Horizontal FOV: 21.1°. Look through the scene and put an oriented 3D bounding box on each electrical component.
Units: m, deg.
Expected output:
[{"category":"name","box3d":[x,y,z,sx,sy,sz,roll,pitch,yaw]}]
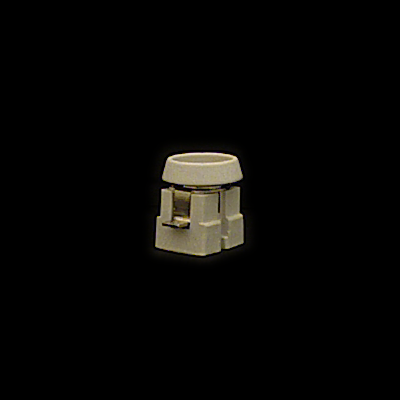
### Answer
[{"category":"electrical component","box3d":[0.000,0.000,0.650,0.048,0.056,0.067,6,12,33]}]
